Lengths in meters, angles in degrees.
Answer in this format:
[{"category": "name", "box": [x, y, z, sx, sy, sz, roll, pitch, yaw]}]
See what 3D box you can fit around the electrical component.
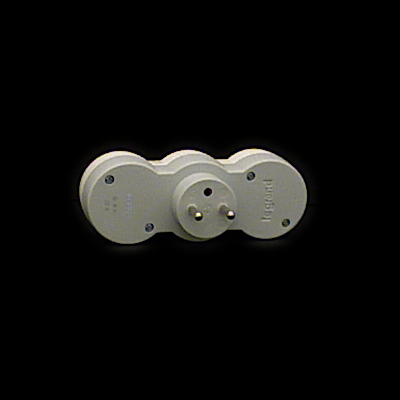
[{"category": "electrical component", "box": [0.000, 0.000, 0.648, 0.139, 0.052, 0.072, -2, 13, -15]}]
